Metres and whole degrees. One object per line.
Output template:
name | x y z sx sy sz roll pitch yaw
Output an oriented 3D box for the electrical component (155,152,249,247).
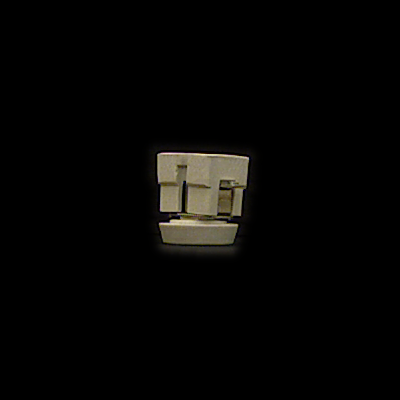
electrical component | 0.000 0.000 0.656 0.065 0.055 0.049 4 2 43
